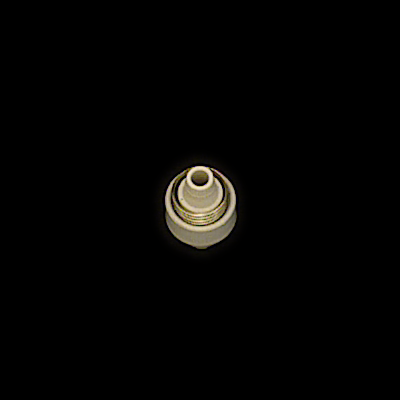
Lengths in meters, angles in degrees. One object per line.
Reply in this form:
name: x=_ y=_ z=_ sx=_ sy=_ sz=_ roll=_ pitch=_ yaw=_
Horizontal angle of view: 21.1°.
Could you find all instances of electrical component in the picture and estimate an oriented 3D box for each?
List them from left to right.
electrical component: x=0.000 y=0.000 z=0.633 sx=0.043 sy=0.043 sz=0.062 roll=0 pitch=-25 yaw=1
